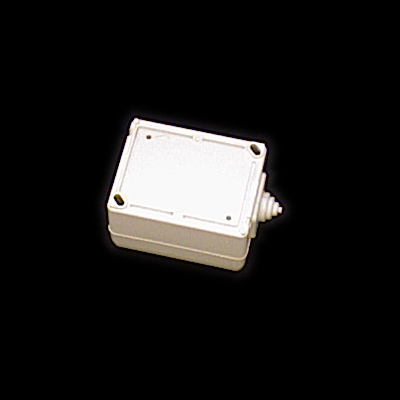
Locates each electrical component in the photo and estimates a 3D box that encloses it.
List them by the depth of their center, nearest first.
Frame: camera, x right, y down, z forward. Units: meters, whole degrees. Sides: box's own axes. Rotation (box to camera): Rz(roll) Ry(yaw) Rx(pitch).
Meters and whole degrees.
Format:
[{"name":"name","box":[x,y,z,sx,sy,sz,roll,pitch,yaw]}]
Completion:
[{"name":"electrical component","box":[0.000,0.000,0.626,0.096,0.062,0.060,12,-27,5]}]
